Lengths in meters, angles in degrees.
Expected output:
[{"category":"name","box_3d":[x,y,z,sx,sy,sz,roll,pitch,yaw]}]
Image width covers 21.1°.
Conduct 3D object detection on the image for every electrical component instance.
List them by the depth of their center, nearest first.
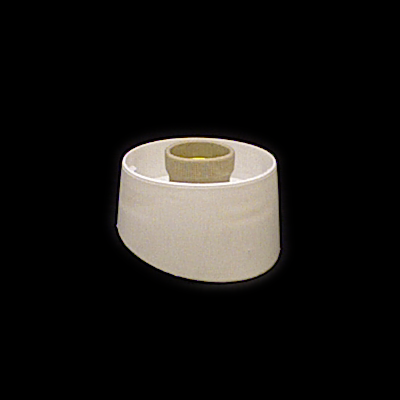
[{"category":"electrical component","box_3d":[0.000,0.000,0.638,0.099,0.065,0.097,1,21,0]}]
